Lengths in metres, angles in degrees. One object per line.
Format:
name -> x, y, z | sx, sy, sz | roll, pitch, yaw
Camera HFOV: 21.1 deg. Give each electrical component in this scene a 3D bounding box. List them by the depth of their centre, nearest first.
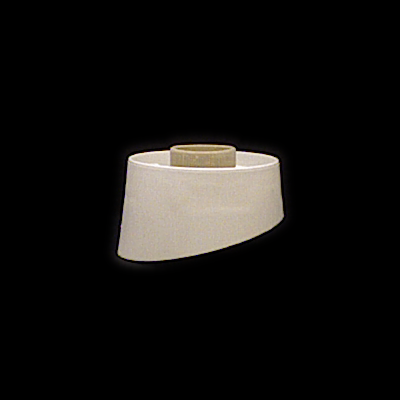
electrical component -> 0.000, 0.000, 0.644 | 0.099, 0.064, 0.098 | 1, 10, 0
